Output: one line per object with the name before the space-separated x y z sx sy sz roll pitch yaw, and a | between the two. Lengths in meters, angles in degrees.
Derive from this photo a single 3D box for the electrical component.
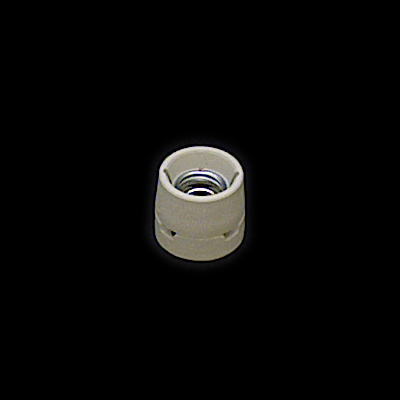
electrical component | 0.000 0.000 0.636 0.055 0.047 0.055 1 43 -1
